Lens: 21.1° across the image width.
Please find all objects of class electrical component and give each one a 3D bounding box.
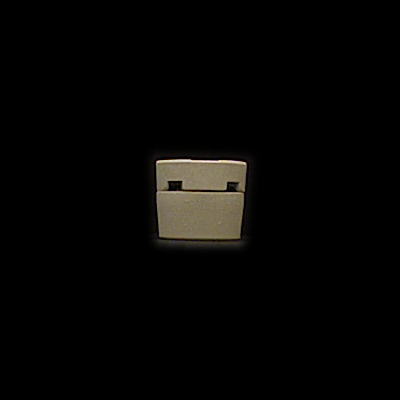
[{"bbox_3d":[0.000,0.000,0.651,0.055,0.047,0.055,2,1,0],"label":"electrical component"}]
